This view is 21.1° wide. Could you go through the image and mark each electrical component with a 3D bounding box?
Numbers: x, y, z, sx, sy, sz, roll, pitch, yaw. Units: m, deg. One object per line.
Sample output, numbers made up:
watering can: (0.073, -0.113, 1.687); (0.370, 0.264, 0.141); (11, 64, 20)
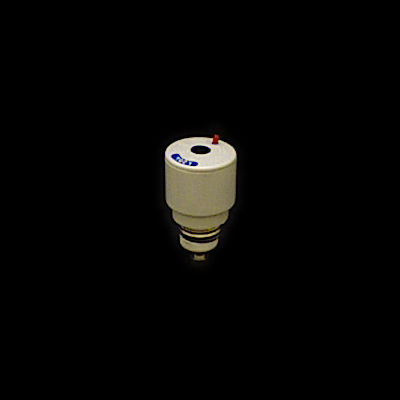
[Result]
electrical component: (0.000, 0.000, 0.631); (0.040, 0.079, 0.039); (1, 31, 0)
